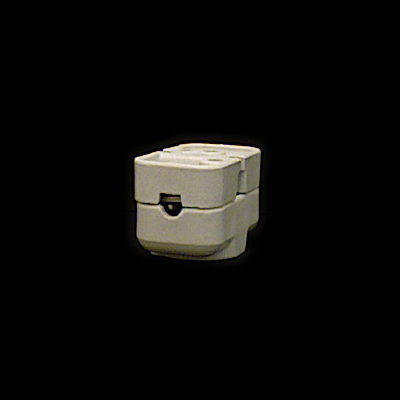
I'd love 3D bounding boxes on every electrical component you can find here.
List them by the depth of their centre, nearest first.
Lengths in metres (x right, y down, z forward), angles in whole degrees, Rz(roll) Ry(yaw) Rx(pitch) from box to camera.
[{"bbox_3d":[0.000,0.000,0.650,0.053,0.060,0.095,5,12,20],"label":"electrical component"}]
